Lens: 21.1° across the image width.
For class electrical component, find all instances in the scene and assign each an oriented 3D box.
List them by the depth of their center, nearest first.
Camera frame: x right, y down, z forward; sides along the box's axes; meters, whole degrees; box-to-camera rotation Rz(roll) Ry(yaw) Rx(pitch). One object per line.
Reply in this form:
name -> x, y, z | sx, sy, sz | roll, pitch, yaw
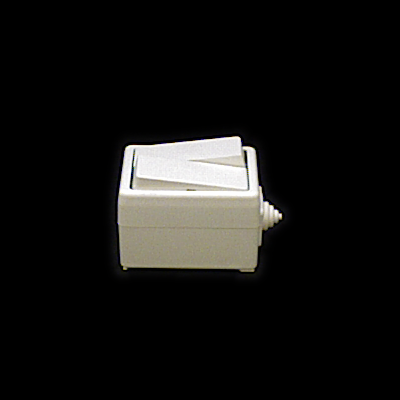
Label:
electrical component -> 0.000, 0.000, 0.634 | 0.096, 0.061, 0.061 | 1, 31, 0
